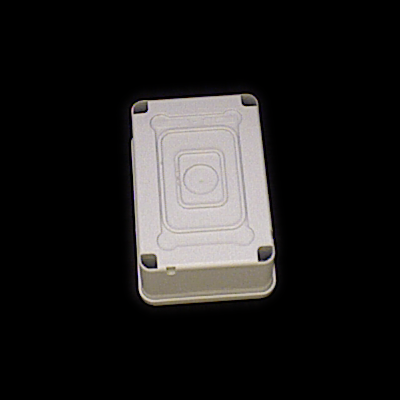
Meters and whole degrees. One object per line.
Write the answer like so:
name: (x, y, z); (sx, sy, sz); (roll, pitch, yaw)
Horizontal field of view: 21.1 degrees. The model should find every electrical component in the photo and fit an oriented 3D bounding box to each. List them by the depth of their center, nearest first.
electrical component: (0.000, 0.000, 0.628); (0.078, 0.113, 0.057); (-4, -27, -2)
